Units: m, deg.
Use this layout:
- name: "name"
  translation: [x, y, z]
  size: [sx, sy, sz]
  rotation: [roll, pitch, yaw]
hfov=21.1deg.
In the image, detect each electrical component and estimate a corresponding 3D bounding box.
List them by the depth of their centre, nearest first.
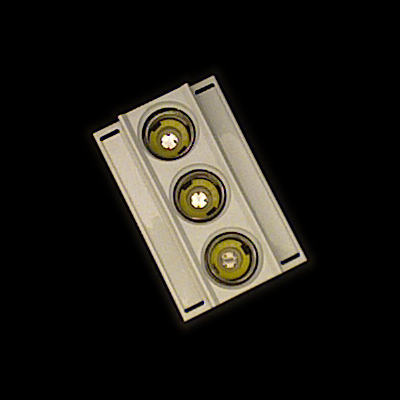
- name: "electrical component"
  translation: [0.000, 0.000, 0.637]
  size: [0.079, 0.121, 0.063]
  rotation: [-26, -6, -3]
